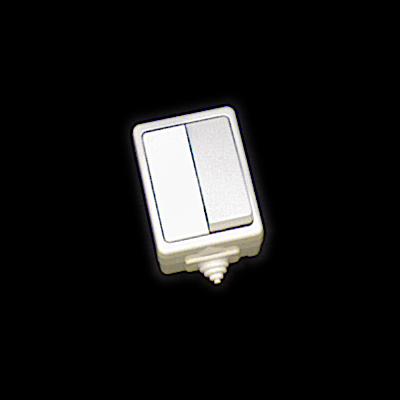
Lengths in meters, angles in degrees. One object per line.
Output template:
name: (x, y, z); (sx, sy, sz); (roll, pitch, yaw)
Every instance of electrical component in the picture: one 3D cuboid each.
electrical component: (0.000, 0.000, 0.625); (0.062, 0.097, 0.060); (-12, -17, -3)
